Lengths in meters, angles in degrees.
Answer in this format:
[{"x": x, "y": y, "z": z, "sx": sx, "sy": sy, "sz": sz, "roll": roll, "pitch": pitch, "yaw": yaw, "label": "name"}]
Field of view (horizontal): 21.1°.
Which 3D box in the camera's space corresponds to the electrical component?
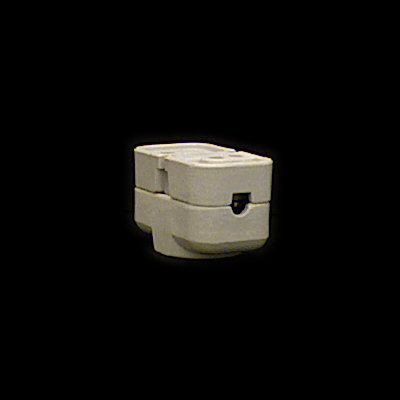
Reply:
[{"x": 0.000, "y": 0.000, "z": 0.654, "sx": 0.054, "sy": 0.060, "sz": 0.094, "roll": -5, "pitch": 12, "yaw": -30, "label": "electrical component"}]
